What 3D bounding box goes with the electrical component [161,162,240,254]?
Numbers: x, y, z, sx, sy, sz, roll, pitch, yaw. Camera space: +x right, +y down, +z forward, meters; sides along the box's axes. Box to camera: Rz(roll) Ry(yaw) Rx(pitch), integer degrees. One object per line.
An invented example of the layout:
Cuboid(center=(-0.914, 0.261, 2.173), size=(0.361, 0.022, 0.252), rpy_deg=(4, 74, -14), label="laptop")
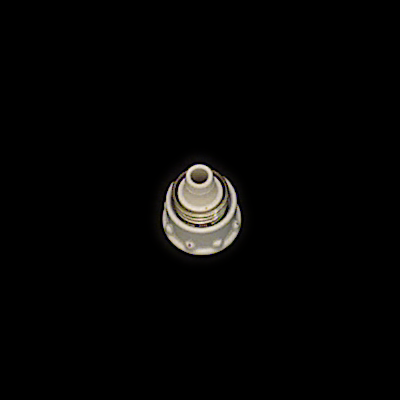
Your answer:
Cuboid(center=(0.000, 0.000, 0.634), size=(0.048, 0.048, 0.062), rpy_deg=(0, -28, 1), label="electrical component")
